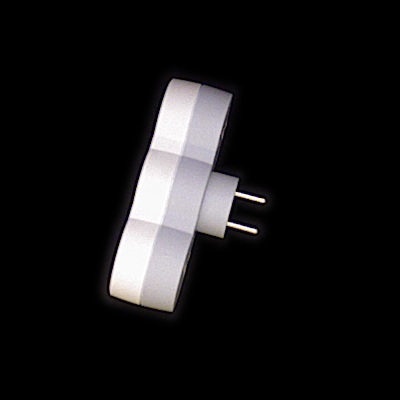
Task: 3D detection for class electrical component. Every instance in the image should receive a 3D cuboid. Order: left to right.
[{"bbox_3d":[0.000,0.000,0.631,0.074,0.138,0.052,15,-17,3],"label":"electrical component"}]
